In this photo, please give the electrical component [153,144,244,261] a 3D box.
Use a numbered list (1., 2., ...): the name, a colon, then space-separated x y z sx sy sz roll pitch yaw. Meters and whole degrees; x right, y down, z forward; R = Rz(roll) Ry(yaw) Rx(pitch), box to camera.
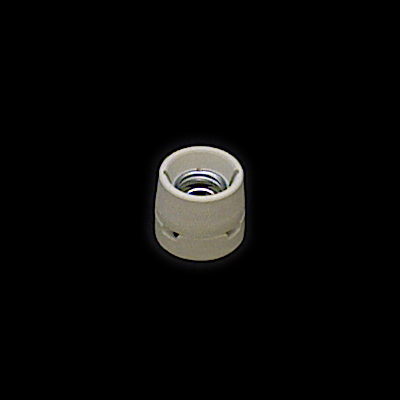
1. electrical component: 0.000 0.000 0.636 0.055 0.047 0.055 1 42 -1
